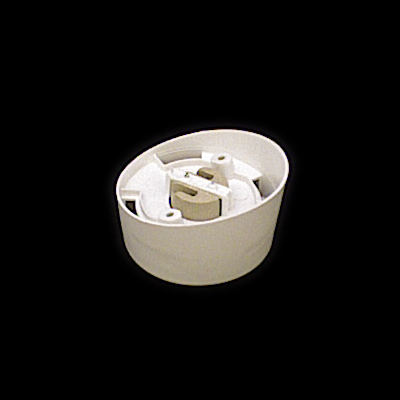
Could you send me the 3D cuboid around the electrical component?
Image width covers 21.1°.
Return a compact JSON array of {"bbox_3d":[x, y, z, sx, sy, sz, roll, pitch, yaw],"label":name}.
[{"bbox_3d":[0.000,0.000,0.629,0.099,0.065,0.098,1,42,-1],"label":"electrical component"}]
